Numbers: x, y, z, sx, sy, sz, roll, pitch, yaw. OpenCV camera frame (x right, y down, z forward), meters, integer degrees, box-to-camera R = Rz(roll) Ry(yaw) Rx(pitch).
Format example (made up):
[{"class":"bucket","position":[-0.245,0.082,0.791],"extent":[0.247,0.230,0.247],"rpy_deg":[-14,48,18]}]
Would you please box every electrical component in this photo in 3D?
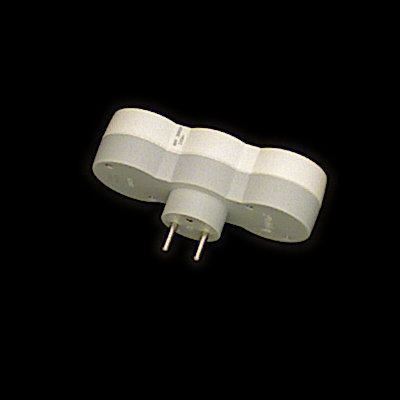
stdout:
[{"class":"electrical component","position":[0.000,0.000,0.637],"extent":[0.138,0.074,0.052],"rpy_deg":[17,-24,8]}]
